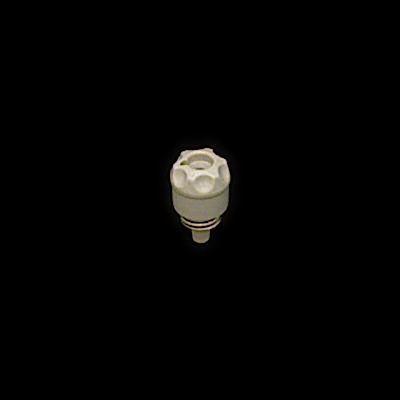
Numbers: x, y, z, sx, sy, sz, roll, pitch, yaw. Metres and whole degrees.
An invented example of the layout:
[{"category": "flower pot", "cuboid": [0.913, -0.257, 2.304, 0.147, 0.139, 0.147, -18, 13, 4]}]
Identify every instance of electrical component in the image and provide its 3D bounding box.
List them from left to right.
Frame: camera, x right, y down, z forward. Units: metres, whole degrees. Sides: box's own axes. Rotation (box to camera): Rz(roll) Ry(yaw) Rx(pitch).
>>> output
[{"category": "electrical component", "cuboid": [0.000, 0.000, 0.638, 0.035, 0.062, 0.035, 0, 42, 0]}]
